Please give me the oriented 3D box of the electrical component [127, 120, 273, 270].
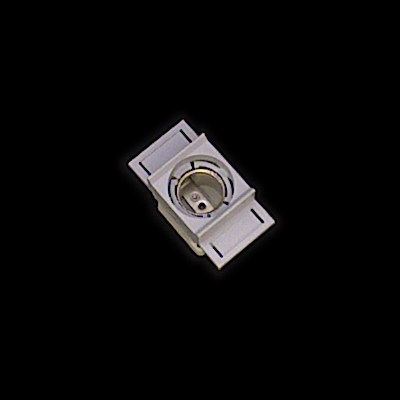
[{"bbox_3d":[0.000,0.000,0.624,0.042,0.081,0.063,-39,-13,-9],"label":"electrical component"}]
